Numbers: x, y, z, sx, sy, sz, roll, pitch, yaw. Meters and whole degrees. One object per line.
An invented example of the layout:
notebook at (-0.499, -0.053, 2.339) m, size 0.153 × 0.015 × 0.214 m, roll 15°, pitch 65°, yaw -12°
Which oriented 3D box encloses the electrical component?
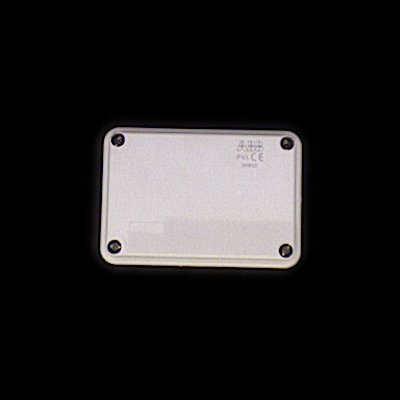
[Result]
electrical component at (0.000, 0.000, 0.628) m, size 0.113 × 0.078 × 0.057 m, roll 1°, pitch -7°, yaw 1°
